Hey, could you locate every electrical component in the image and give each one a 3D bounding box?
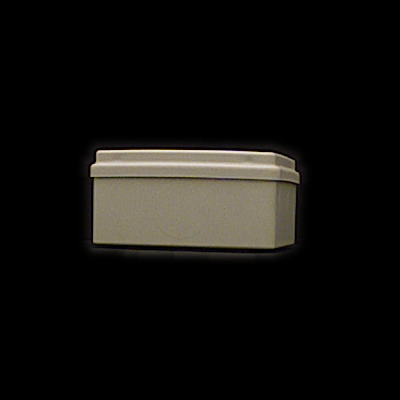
[{"bbox_3d":[0.000,0.000,0.648,0.108,0.056,0.108,1,1,11],"label":"electrical component"}]
